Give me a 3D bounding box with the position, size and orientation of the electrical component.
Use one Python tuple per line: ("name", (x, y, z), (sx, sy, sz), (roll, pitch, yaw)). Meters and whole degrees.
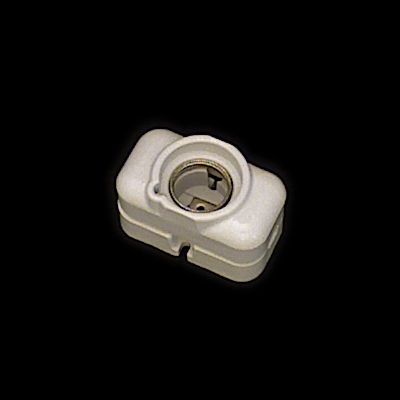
("electrical component", (0.000, 0.000, 0.633), (0.095, 0.054, 0.059), (22, -25, 11))
